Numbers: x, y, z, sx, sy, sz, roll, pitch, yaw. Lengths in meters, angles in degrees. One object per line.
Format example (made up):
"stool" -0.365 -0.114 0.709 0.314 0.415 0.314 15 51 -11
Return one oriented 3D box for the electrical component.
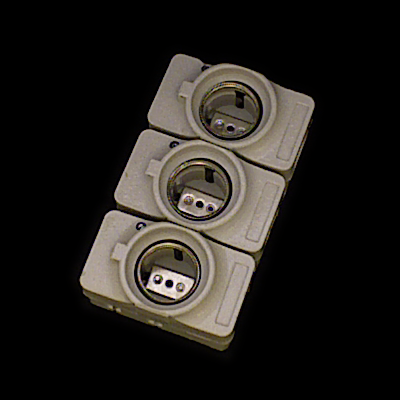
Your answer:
"electrical component" 0.000 0.000 0.631 0.089 0.150 0.062 19 -16 7
